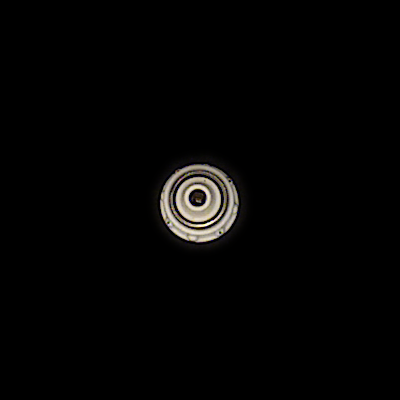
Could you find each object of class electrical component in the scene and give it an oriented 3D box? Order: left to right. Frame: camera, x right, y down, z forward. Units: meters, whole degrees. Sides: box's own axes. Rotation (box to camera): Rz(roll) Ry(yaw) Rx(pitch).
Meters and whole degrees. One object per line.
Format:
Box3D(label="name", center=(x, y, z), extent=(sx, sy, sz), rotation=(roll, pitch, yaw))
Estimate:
Box3D(label="electrical component", center=(0.000, 0.000, 0.635), extent=(0.048, 0.048, 0.062), rotation=(0, -4, 1))
